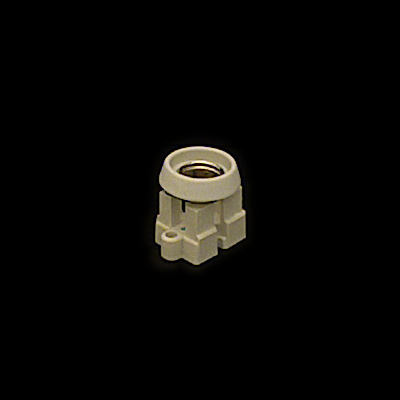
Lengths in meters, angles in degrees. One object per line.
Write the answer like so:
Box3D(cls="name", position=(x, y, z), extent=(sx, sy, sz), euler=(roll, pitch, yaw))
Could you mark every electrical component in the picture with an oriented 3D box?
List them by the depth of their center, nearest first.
Box3D(cls="electrical component", position=(0.000, 0.000, 0.644), extent=(0.048, 0.056, 0.066), euler=(29, 42, 34))
